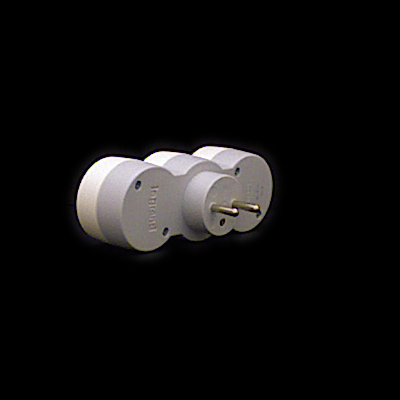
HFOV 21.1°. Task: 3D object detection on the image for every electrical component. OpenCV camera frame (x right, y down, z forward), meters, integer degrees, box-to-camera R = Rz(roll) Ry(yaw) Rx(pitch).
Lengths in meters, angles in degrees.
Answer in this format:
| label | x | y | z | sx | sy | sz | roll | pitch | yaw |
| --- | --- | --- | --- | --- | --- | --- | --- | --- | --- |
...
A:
| label | x | y | z | sx | sy | sz | roll | pitch | yaw |
| --- | --- | --- | --- | --- | --- | --- | --- | --- | --- |
| electrical component | 0.000 | 0.000 | 0.648 | 0.073 | 0.052 | 0.138 | 13 | 15 | 40 |
